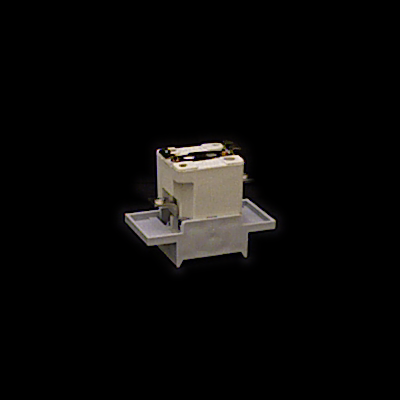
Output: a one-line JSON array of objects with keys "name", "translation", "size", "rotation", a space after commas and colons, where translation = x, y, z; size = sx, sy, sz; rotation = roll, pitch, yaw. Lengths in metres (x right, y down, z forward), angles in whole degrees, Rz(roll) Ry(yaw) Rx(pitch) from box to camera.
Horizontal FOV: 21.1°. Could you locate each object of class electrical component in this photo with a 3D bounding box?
[{"name": "electrical component", "translation": [0.000, 0.000, 0.637], "size": [0.081, 0.064, 0.041], "rotation": [-7, 23, -22]}]
